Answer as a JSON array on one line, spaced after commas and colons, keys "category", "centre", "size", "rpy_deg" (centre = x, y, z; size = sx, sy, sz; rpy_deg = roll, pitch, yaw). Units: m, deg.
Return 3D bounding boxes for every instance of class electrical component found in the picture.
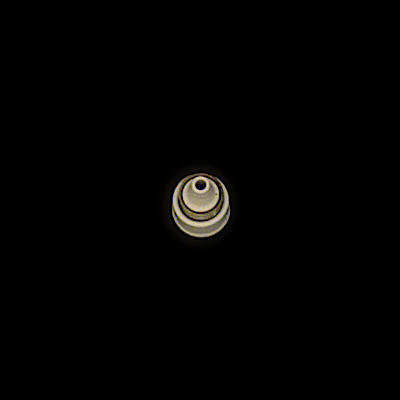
[{"category": "electrical component", "centre": [0.000, 0.000, 0.637], "size": [0.035, 0.035, 0.061], "rpy_deg": [0, -17, 0]}]
